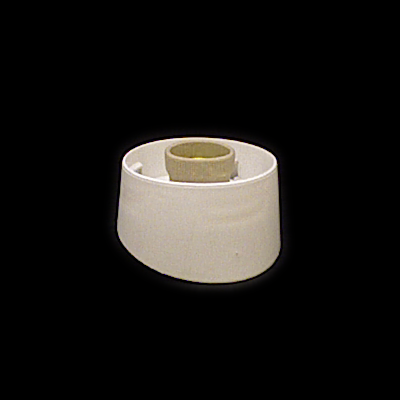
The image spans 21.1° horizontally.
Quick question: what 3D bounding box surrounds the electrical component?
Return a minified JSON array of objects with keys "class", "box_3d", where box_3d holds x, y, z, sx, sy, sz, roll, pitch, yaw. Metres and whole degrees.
[{"class":"electrical component","box_3d":[0.000,0.000,0.638,0.099,0.065,0.097,1,21,0]}]
